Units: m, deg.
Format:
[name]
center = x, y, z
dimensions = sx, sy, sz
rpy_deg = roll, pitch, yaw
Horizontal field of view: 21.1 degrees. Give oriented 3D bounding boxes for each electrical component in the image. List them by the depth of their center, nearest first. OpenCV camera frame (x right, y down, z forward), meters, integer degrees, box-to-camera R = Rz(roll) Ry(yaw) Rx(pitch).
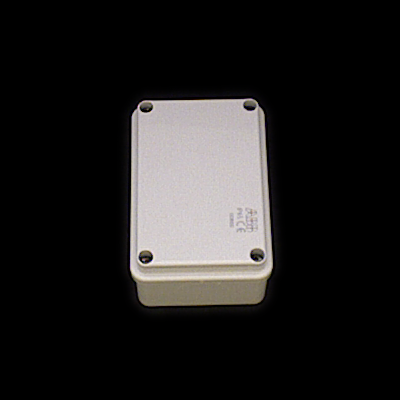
[electrical component]
center = 0.000, 0.000, 0.627
dimensions = 0.078, 0.113, 0.057
rpy_deg = -1, -27, -1
